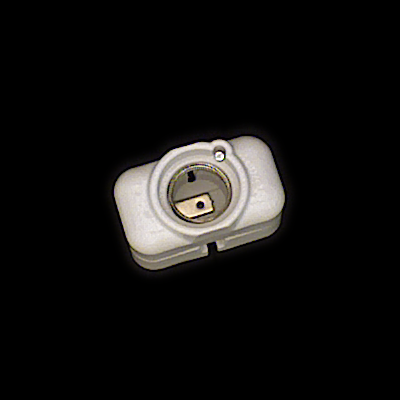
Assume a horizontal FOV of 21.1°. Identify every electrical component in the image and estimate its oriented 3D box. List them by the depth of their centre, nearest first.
[{"bbox_3d":[0.000,0.000,0.634,0.095,0.054,0.059,-17,-15,-5],"label":"electrical component"}]
